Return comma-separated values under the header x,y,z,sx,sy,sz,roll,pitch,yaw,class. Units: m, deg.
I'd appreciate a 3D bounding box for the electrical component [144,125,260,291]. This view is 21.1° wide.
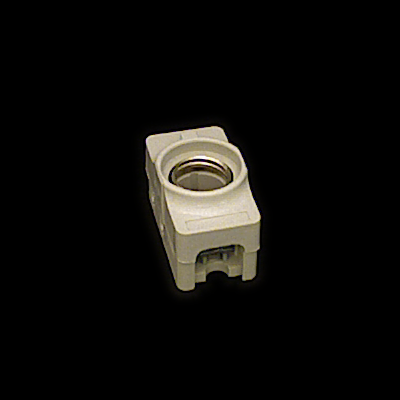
x,y,z,sx,sy,sz,roll,pitch,yaw,class
0.000,0.000,0.639,0.050,0.056,0.088,-10,44,-11,electrical component
